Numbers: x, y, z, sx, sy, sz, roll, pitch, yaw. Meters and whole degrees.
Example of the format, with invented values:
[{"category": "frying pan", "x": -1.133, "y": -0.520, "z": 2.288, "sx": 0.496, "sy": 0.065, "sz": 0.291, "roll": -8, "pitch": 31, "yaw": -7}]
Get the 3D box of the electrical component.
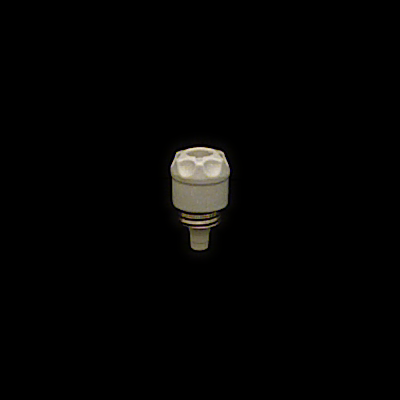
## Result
[{"category": "electrical component", "x": 0.000, "y": 0.000, "z": 0.643, "sx": 0.035, "sy": 0.062, "sz": 0.035, "roll": 1, "pitch": 22, "yaw": 0}]
